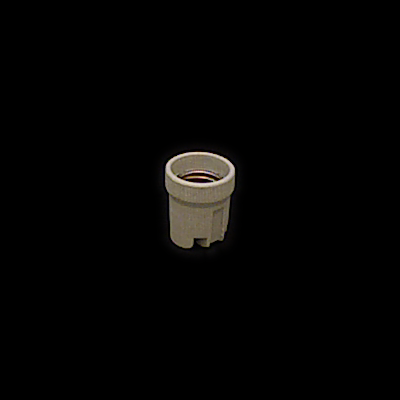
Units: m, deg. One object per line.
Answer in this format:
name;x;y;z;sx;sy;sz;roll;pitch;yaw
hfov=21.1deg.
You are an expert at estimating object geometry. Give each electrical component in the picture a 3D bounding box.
electrical component;0.000;0.000;0.634;0.040;0.047;0.039;1;32;0
